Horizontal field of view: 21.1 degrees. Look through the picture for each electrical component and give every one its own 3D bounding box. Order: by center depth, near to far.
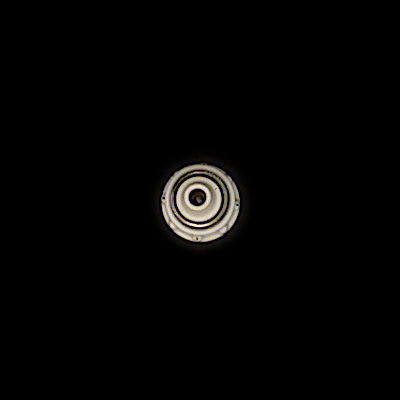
[{"bbox_3d":[0.000,0.000,0.634,0.048,0.048,0.062,0,-5,1],"label":"electrical component"}]
